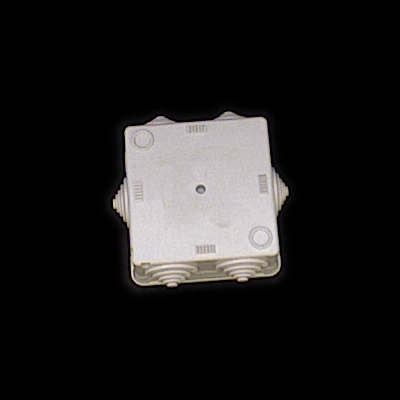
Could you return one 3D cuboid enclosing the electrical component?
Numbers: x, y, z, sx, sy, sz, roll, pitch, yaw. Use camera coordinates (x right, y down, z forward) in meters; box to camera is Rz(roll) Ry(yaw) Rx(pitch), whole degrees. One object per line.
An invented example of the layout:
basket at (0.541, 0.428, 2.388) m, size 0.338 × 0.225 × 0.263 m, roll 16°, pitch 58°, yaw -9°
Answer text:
electrical component at (0.000, 0.000, 0.631) m, size 0.100 × 0.100 × 0.048 m, roll -4°, pitch -17°, yaw -1°
